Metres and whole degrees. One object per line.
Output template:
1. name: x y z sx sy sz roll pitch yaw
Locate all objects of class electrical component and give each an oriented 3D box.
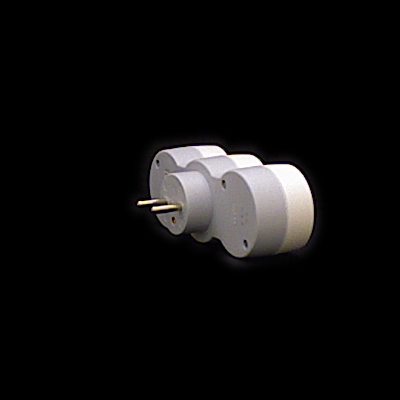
1. electrical component: 0.000 0.000 0.643 0.073 0.052 0.137 -7 14 -28
